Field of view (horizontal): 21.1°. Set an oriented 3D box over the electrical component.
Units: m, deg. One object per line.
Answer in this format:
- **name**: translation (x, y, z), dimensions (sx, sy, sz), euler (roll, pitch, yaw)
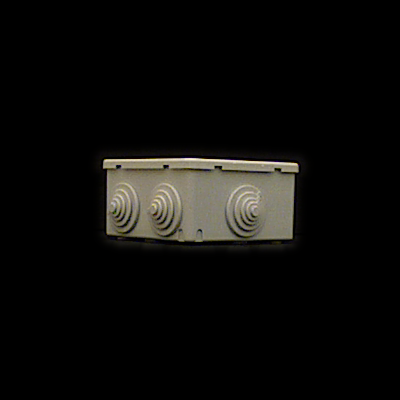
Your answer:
- **electrical component**: translation (0.000, 0.000, 0.655), dimensions (0.101, 0.048, 0.098), euler (0, 1, -40)
